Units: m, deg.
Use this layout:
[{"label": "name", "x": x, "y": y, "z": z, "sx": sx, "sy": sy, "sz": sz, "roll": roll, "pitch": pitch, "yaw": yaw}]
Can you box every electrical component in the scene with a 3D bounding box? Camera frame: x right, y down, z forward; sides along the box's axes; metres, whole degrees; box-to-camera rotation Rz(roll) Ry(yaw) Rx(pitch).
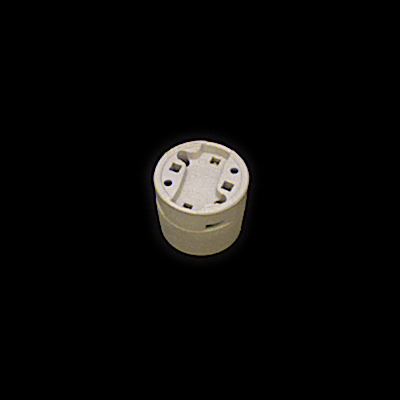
[{"label": "electrical component", "x": 0.000, "y": 0.000, "z": 0.635, "sx": 0.055, "sy": 0.055, "sz": 0.047, "roll": 0, "pitch": -37, "yaw": 0}]
